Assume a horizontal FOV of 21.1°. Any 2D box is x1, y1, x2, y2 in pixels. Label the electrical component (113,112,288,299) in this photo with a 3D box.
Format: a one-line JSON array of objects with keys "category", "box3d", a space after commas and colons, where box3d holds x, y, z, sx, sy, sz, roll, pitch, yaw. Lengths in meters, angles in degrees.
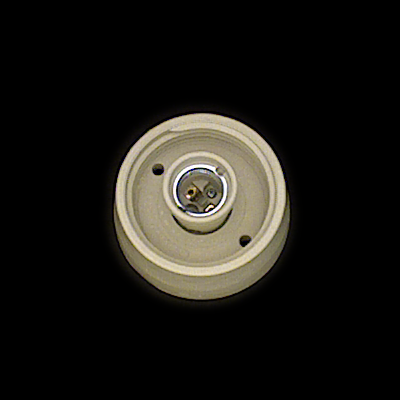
[{"category": "electrical component", "box3d": [0.000, 0.000, 0.634, 0.108, 0.108, 0.060, 0, -16, 0]}]
